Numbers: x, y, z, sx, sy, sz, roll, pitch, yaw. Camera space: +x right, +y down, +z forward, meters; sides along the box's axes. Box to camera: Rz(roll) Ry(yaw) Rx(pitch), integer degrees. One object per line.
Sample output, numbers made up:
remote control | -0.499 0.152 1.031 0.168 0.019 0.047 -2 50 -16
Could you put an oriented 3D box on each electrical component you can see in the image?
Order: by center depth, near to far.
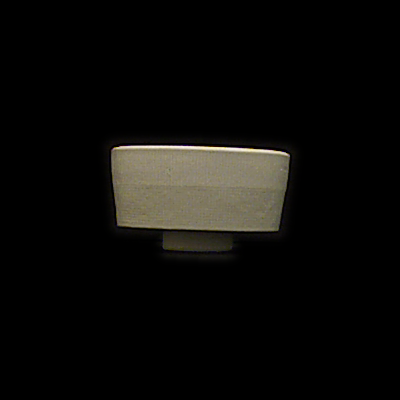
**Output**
electrical component | 0.000 0.000 0.653 0.108 0.060 0.108 2 1 1
